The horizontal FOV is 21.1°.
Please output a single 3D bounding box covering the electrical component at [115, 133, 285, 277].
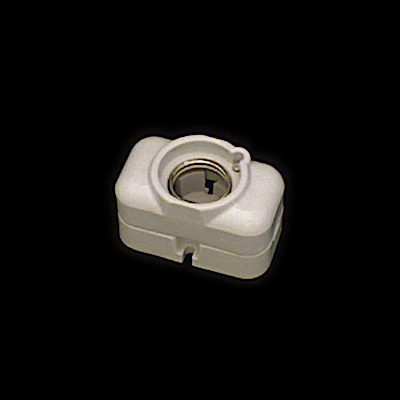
[{"bbox_3d":[0.000,0.000,0.636,0.095,0.053,0.059,14,-35,10],"label":"electrical component"}]
